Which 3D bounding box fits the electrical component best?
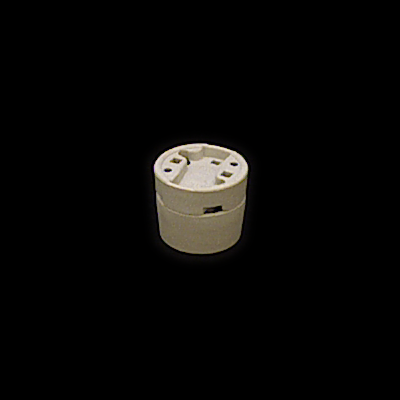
[{"bbox_3d":[0.000,0.000,0.637,0.055,0.047,0.055,1,31,0],"label":"electrical component"}]
